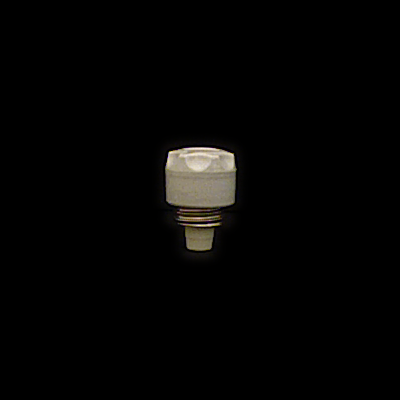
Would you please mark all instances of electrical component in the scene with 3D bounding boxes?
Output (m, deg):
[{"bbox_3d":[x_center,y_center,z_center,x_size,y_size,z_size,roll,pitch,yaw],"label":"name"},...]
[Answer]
[{"bbox_3d":[0.000,0.000,0.652,0.043,0.062,0.043,1,11,0],"label":"electrical component"}]
